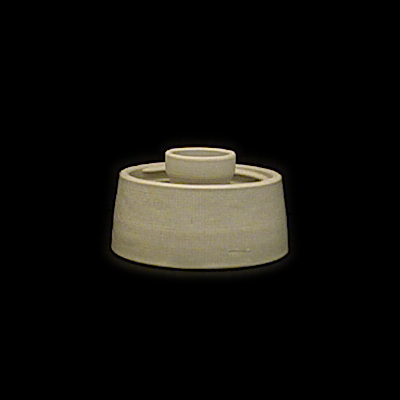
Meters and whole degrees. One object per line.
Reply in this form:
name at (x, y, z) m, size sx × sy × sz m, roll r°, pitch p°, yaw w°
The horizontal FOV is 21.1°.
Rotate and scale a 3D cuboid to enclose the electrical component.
electrical component at (0.000, 0.000, 0.652) m, size 0.108 × 0.061 × 0.107 m, roll 1°, pitch 11°, yaw 0°
